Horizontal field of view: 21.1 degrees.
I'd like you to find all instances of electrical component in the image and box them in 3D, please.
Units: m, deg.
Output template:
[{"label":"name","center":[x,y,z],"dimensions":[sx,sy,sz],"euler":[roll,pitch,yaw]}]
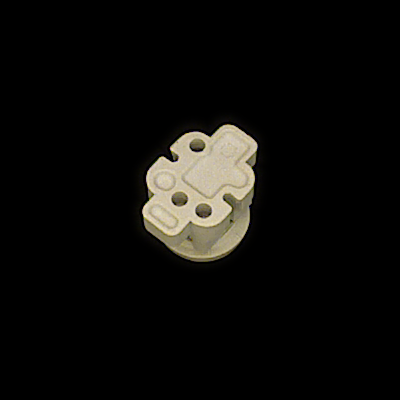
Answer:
[{"label":"electrical component","center":[0.000,0.000,0.636],"dimensions":[0.057,0.079,0.057],"euler":[36,-23,17]}]
